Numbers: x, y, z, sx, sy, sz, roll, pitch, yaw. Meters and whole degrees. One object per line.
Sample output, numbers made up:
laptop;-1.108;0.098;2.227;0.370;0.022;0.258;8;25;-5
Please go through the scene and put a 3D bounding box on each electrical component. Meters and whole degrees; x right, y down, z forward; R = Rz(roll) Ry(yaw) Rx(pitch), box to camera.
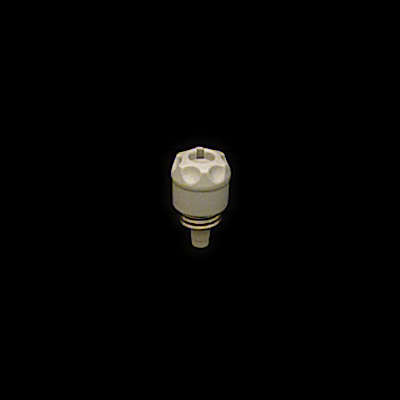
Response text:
electrical component;0.000;0.000;0.643;0.035;0.062;0.034;1;32;0
